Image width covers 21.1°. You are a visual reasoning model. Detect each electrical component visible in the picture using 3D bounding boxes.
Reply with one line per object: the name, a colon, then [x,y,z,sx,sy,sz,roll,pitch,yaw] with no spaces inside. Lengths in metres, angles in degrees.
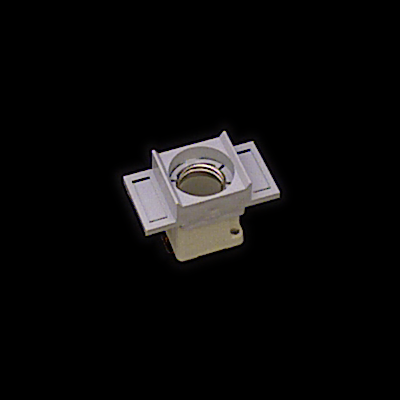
electrical component: [0.000,0.000,0.625,0.081,0.042,0.064,-16,-35,-13]
